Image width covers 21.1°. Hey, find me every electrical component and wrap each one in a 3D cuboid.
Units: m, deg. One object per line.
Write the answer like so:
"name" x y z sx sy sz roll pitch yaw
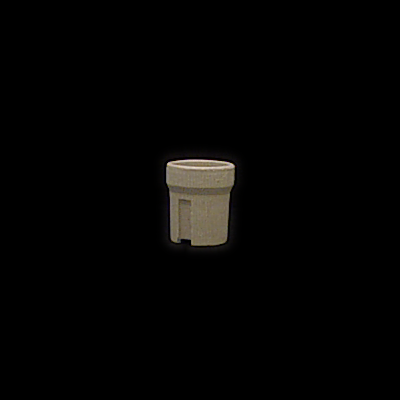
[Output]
"electrical component" 0.000 0.000 0.646 0.040 0.046 0.040 1 11 0
